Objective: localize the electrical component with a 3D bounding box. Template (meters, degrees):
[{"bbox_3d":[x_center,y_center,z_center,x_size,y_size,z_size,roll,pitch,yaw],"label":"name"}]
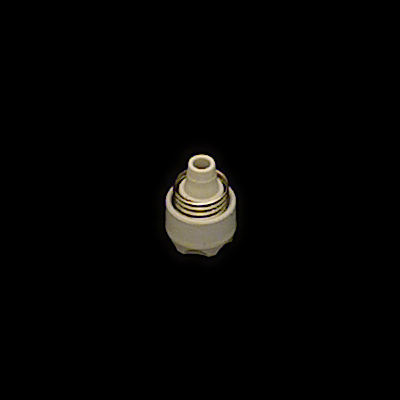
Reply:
[{"bbox_3d":[0.000,0.000,0.637,0.043,0.062,0.043,1,44,0],"label":"electrical component"}]
